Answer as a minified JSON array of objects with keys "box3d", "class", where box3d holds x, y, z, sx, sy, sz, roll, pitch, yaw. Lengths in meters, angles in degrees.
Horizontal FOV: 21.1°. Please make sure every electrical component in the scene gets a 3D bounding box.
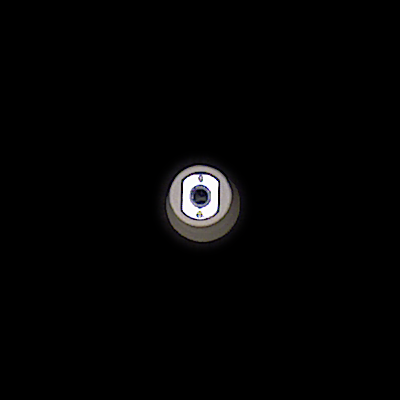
[{"box3d":[0.000,0.000,0.626,0.044,0.044,0.065,0,-6,2],"class":"electrical component"}]
